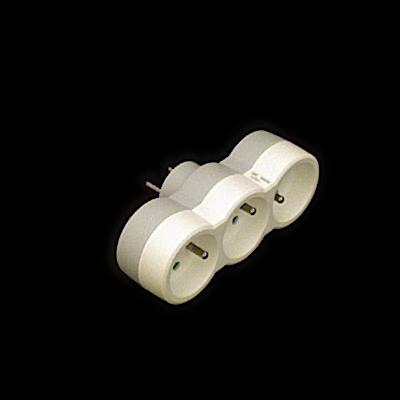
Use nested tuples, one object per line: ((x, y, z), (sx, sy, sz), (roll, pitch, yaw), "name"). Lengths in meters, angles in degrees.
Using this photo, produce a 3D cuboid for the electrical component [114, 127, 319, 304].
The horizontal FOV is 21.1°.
((0.000, 0.000, 0.643), (0.072, 0.053, 0.139), (32, 51, 31), "electrical component")
